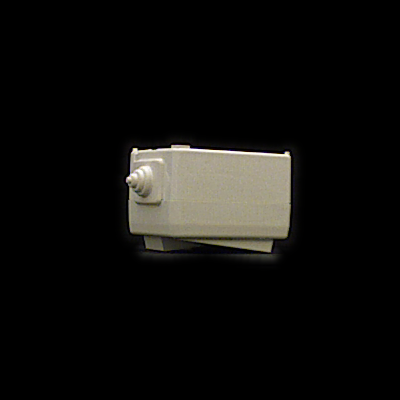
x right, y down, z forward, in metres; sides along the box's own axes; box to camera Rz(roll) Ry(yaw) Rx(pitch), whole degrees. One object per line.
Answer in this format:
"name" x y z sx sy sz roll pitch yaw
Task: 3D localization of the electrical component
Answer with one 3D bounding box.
"electrical component" 0.000 0.000 0.644 0.097 0.061 0.061 2 1 -30
